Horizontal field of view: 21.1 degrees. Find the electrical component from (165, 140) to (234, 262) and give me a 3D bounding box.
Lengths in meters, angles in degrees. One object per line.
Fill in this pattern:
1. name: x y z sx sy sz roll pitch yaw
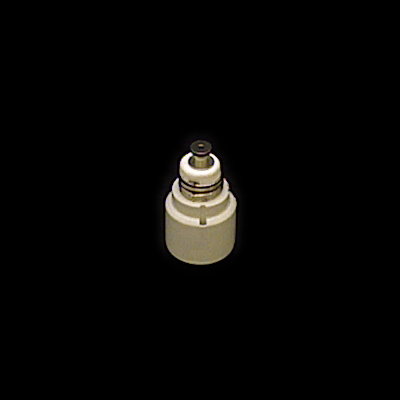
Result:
1. electrical component: 0.000 0.000 0.623 0.040 0.079 0.039 0 41 0
